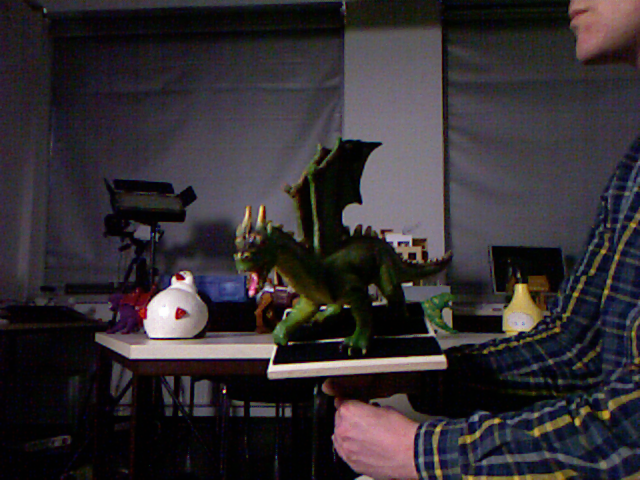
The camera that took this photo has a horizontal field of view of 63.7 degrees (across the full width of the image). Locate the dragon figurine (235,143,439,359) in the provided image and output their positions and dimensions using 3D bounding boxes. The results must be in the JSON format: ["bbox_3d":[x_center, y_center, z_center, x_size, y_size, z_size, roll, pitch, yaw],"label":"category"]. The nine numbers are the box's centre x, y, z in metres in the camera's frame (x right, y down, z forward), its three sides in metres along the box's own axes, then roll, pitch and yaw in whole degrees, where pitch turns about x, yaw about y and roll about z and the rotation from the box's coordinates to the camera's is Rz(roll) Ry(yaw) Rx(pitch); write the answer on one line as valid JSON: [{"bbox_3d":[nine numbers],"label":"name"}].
[{"bbox_3d":[0.044,-0.002,0.652,0.122,0.240,0.415,9,22,37],"label":"dragon figurine"}]
